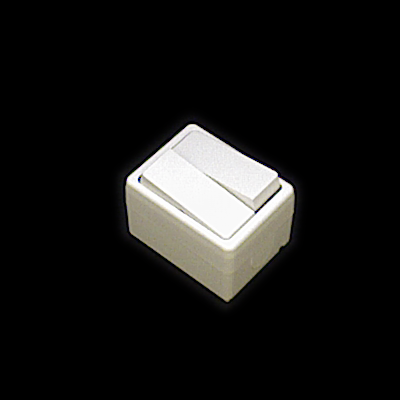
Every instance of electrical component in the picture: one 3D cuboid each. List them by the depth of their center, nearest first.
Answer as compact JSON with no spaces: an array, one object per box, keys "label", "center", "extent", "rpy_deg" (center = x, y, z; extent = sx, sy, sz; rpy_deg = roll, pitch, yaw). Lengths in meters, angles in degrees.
[{"label":"electrical component","center":[0.000,0.000,0.629],"extent":[0.096,0.061,0.062],"rpy_deg":[34,59,23]}]
